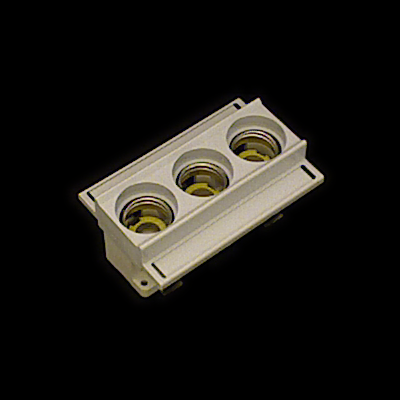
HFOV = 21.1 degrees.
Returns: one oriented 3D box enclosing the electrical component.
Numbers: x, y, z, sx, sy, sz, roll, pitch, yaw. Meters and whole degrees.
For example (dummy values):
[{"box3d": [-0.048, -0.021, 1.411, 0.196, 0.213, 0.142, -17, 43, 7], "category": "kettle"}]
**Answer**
[{"box3d": [0.000, 0.000, 0.639, 0.121, 0.078, 0.063, -32, -29, -22], "category": "electrical component"}]
